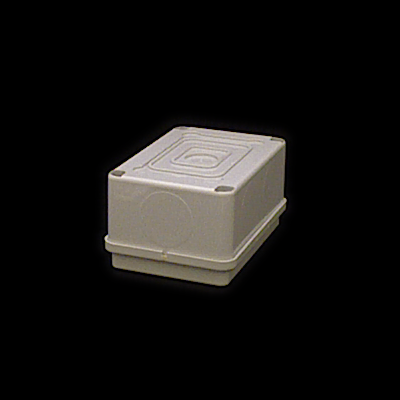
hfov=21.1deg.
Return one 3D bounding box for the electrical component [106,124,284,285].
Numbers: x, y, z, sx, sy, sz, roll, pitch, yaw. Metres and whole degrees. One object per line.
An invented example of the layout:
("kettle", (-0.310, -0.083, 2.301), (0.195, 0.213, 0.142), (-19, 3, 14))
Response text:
("electrical component", (0.000, 0.000, 0.639), (0.078, 0.058, 0.112), (9, 23, 19))
